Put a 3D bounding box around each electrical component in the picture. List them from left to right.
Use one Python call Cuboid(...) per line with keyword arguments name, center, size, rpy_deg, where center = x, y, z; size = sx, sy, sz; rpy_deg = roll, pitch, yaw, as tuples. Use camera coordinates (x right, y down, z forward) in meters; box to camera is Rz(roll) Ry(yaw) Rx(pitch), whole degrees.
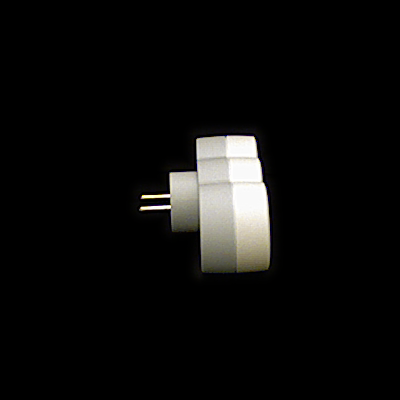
Cuboid(name="electrical component", center=(0.000, 0.000, 0.648), size=(0.074, 0.053, 0.136), rpy_deg=(-1, 22, -1))
